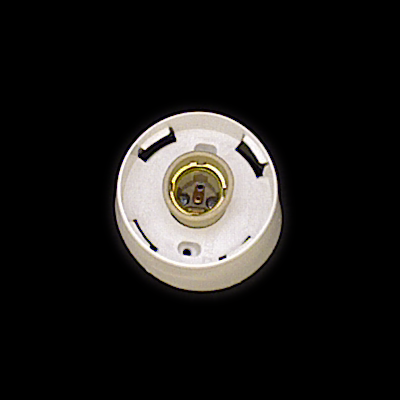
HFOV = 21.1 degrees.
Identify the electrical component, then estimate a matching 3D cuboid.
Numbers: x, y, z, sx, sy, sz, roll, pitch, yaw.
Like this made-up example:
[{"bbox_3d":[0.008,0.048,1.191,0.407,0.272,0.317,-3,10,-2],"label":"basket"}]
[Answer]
[{"bbox_3d":[0.000,0.000,0.624,0.099,0.099,0.064,0,-17,-1],"label":"electrical component"}]
